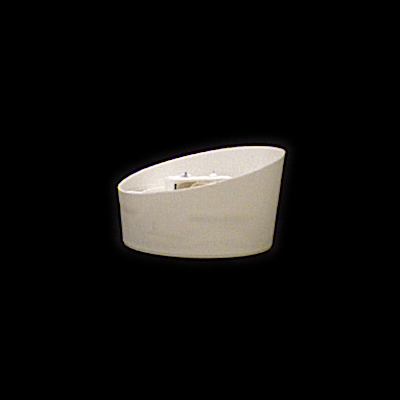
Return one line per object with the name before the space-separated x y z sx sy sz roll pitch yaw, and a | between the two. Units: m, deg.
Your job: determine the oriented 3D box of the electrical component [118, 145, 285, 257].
electrical component | 0.000 0.000 0.645 0.099 0.064 0.098 2 9 0
